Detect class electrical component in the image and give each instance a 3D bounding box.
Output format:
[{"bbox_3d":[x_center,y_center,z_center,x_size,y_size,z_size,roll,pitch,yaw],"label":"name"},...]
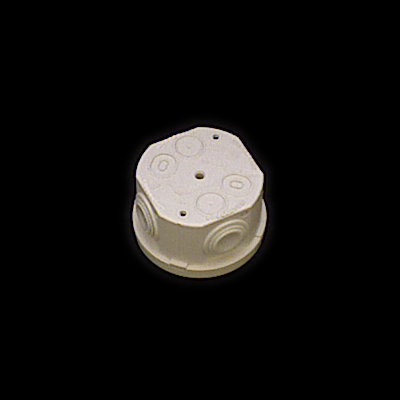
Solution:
[{"bbox_3d":[0.000,0.000,0.632,0.080,0.080,0.051,0,-37,0],"label":"electrical component"}]
